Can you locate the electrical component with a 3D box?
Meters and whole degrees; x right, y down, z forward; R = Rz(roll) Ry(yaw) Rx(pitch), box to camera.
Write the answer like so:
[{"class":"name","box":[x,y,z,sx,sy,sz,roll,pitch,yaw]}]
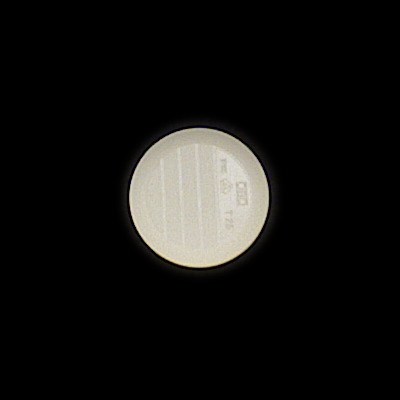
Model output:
[{"class":"electrical component","box":[0.000,0.000,0.631,0.080,0.080,0.050,0,-7,0]}]
